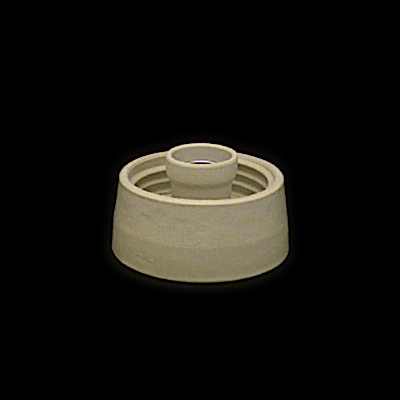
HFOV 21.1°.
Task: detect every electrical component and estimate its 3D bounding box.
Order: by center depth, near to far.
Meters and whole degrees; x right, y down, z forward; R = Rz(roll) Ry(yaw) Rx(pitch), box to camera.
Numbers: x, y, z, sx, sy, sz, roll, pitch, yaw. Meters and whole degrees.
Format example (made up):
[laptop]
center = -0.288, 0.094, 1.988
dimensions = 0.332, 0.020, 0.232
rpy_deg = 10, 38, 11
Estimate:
[electrical component]
center = 0.000, 0.000, 0.647
dimensions = 0.108, 0.061, 0.106
rpy_deg = 1, 21, 0
